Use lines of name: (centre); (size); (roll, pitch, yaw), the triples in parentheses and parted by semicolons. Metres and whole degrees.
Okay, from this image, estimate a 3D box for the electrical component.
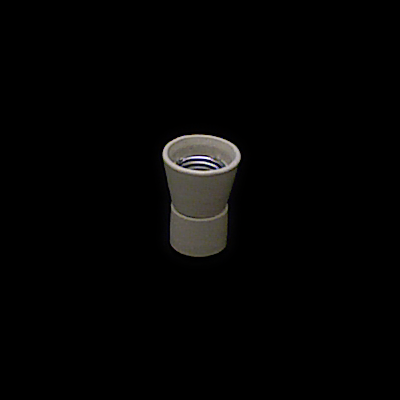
electrical component: (0.000, 0.000, 0.633); (0.044, 0.066, 0.044); (2, 32, -1)
